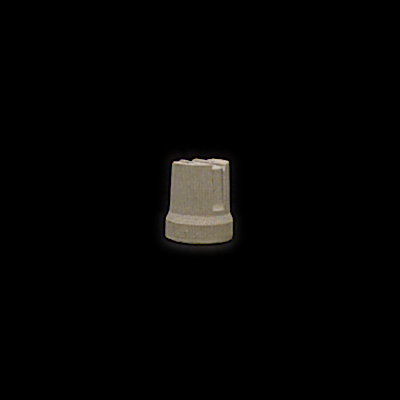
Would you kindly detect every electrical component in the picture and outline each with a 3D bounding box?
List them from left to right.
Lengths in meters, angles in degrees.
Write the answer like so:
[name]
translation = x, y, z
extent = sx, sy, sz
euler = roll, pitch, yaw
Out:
[electrical component]
translation = 0.000, 0.000, 0.647
extent = 0.040, 0.046, 0.040
euler = 2, 11, 0
